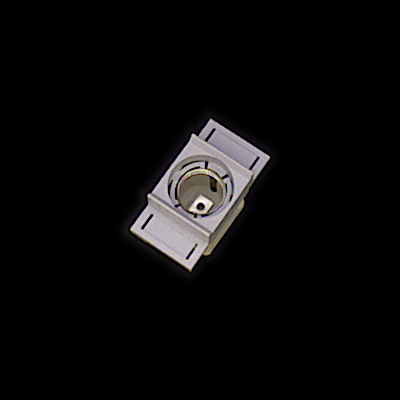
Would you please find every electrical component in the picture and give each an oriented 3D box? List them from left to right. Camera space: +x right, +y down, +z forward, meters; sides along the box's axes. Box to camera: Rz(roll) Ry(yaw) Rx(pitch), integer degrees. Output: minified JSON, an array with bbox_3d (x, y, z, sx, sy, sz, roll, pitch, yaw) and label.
[{"bbox_3d":[0.000,0.000,0.623,0.042,0.081,0.063,34,-14,9],"label":"electrical component"}]
